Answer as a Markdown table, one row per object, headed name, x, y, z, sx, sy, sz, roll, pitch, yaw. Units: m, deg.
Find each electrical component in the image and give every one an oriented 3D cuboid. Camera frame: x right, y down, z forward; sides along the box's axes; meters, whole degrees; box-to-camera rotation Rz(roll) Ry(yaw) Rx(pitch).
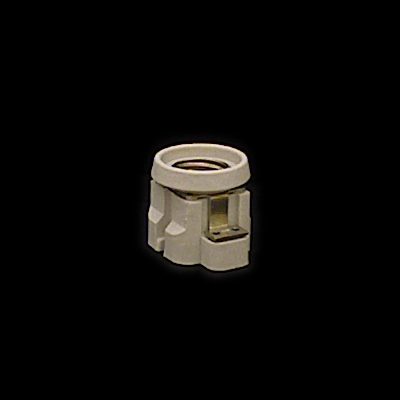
| name | x | y | z | sx | sy | sz | roll | pitch | yaw |
| --- | --- | --- | --- | --- | --- | --- | --- | --- | --- |
| electrical component | 0.000 | 0.000 | 0.638 | 0.058 | 0.057 | 0.077 | -11 | 24 | -28 |
